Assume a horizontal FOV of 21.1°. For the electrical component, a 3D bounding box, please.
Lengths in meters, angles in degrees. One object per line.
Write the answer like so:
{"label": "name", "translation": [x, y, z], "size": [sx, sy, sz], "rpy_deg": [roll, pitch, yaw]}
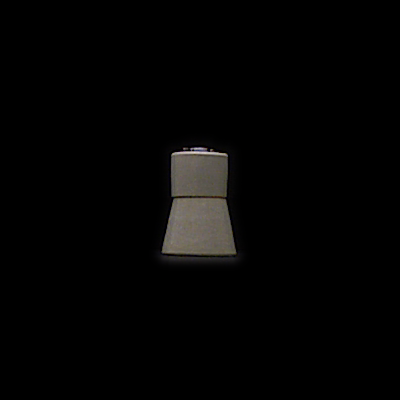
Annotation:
{"label": "electrical component", "translation": [0.000, 0.000, 0.652], "size": [0.044, 0.065, 0.044], "rpy_deg": [0, 0, 0]}
